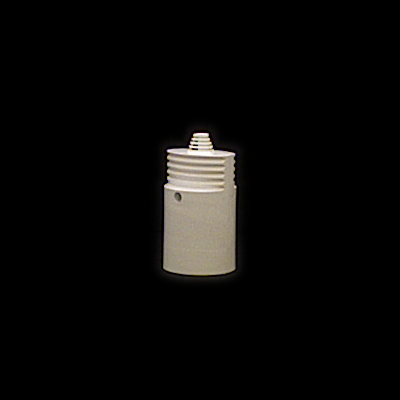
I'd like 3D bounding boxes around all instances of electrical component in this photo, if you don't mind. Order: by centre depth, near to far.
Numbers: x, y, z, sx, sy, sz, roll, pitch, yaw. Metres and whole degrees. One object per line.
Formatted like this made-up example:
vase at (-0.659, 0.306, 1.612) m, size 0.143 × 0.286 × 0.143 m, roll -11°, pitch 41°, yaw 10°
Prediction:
electrical component at (0.000, 0.000, 0.643) m, size 0.043 × 0.081 × 0.043 m, roll 1°, pitch 11°, yaw 0°
